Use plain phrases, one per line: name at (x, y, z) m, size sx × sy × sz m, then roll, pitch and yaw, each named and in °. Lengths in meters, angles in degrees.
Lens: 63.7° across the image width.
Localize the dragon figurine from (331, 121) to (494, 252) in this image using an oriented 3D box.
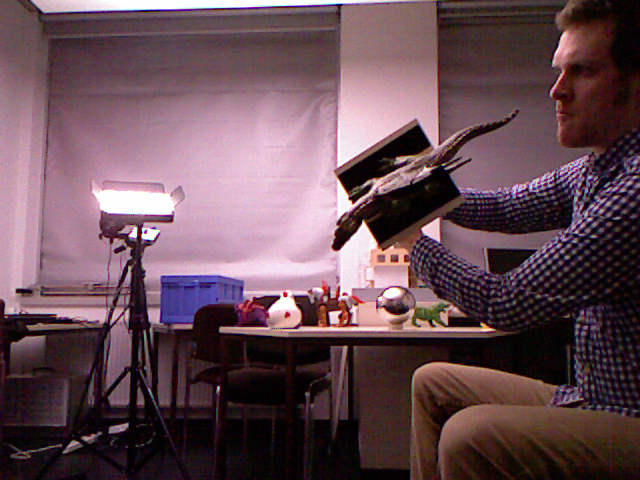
dragon figurine at (0.183, -0.114, 0.963) m, size 0.411 × 0.122 × 0.246 m, roll -35°, pitch 11°, yaw 4°
